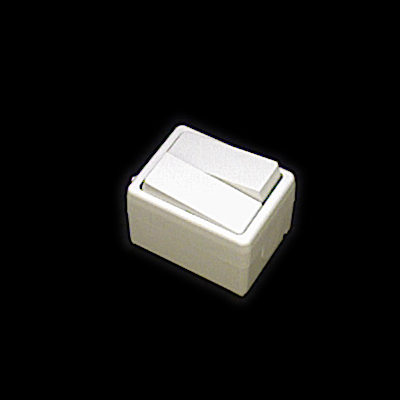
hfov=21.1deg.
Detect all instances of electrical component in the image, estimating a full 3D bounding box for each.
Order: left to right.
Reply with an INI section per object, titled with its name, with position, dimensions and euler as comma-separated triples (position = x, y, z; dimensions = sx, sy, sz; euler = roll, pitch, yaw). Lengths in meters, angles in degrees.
[electrical component]
position = 0.000, 0.000, 0.629
dimensions = 0.096, 0.062, 0.061
euler = 25, -34, 18
